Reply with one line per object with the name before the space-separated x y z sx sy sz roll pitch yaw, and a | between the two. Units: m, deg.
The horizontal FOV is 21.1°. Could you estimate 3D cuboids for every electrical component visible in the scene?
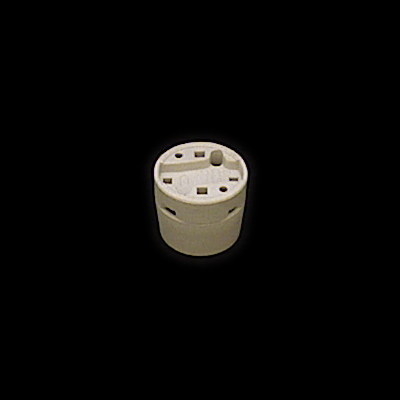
electrical component | 0.000 0.000 0.637 0.055 0.047 0.055 0 42 0
